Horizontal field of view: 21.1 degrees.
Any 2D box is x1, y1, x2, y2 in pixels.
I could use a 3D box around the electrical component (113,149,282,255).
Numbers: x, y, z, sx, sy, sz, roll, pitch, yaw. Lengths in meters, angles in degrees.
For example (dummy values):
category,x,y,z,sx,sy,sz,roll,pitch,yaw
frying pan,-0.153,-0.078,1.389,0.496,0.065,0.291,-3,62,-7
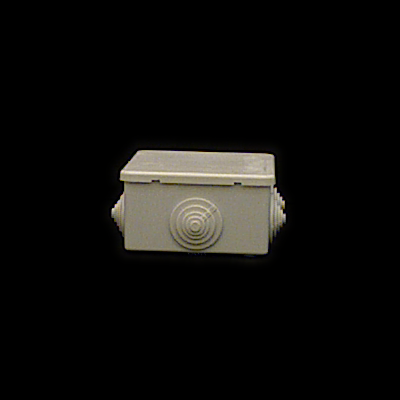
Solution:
category,x,y,z,sx,sy,sz,roll,pitch,yaw
electrical component,0.000,0.000,0.652,0.099,0.049,0.099,2,11,3
